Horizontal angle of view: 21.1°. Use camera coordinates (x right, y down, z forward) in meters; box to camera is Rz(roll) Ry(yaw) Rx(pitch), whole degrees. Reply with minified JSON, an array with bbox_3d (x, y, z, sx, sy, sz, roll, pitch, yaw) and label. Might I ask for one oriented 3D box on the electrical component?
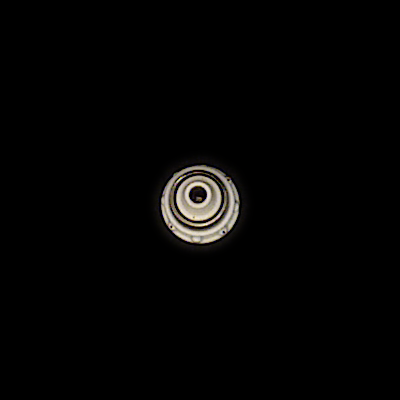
[{"bbox_3d":[0.000,0.000,0.635,0.048,0.048,0.061,0,-6,0],"label":"electrical component"}]
